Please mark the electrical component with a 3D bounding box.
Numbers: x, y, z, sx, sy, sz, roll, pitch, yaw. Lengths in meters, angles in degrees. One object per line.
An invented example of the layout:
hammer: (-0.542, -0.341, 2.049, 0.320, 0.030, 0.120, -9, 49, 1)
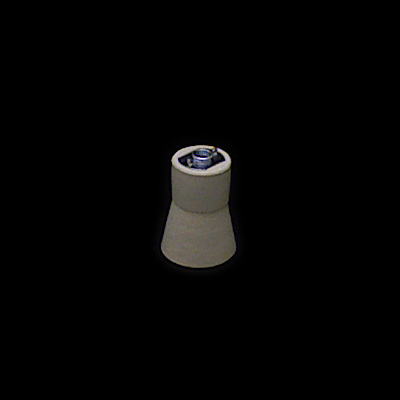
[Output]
electrical component: (0.000, 0.000, 0.631, 0.044, 0.066, 0.044, 2, 32, -1)
